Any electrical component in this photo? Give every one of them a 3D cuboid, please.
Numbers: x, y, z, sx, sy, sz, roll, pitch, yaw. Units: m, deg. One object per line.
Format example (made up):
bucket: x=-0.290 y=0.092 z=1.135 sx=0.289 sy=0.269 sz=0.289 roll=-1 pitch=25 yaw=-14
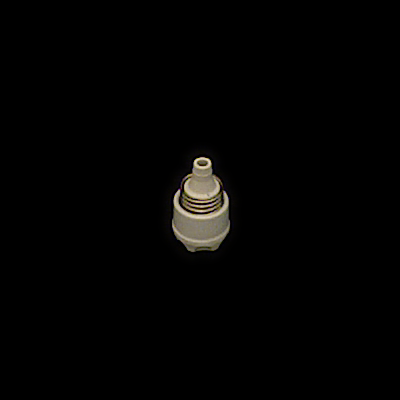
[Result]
electrical component: x=0.000 y=0.000 z=0.644 sx=0.035 sy=0.062 sz=0.034 roll=1 pitch=43 yaw=-1
